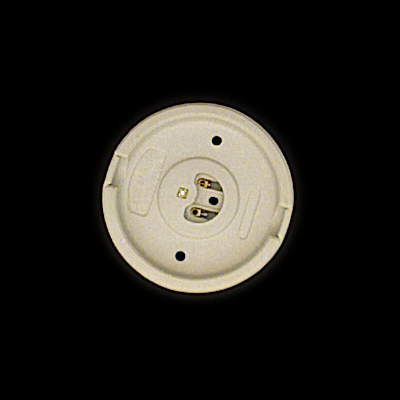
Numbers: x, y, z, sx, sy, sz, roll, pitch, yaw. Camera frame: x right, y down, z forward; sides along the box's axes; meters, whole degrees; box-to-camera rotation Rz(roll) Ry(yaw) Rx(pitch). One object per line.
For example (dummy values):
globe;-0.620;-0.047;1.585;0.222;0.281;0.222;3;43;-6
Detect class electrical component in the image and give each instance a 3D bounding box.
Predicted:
electrical component;0.000;0.000;0.635;0.108;0.108;0.060;0;-6;0
